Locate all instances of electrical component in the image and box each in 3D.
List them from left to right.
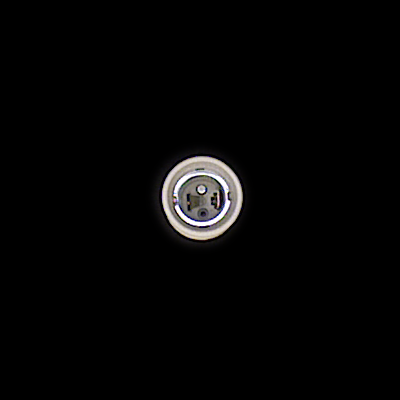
[{"bbox_3d":[0.000,0.000,0.629,0.045,0.045,0.055,0,-6,0],"label":"electrical component"}]
